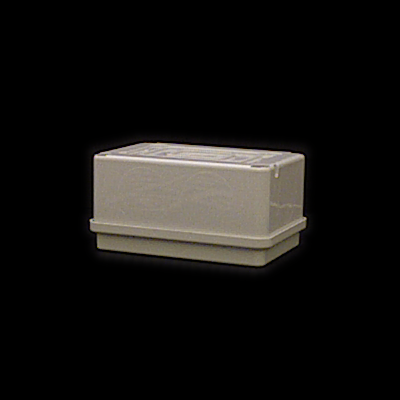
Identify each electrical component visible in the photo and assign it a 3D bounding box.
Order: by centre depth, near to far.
[{"bbox_3d":[0.000,0.000,0.644,0.113,0.057,0.078,5,11,22],"label":"electrical component"}]
